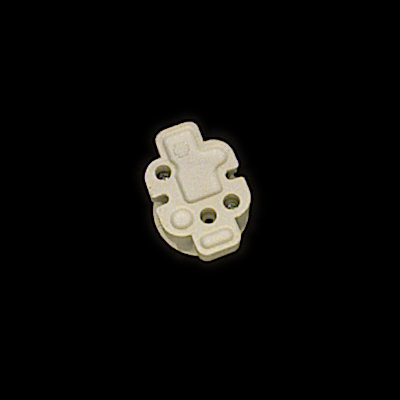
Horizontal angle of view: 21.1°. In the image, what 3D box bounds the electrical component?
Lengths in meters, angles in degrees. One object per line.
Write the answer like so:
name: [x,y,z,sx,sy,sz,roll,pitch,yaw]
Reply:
electrical component: [0.000,0.000,0.636,0.058,0.078,0.056,-21,-17,-5]
